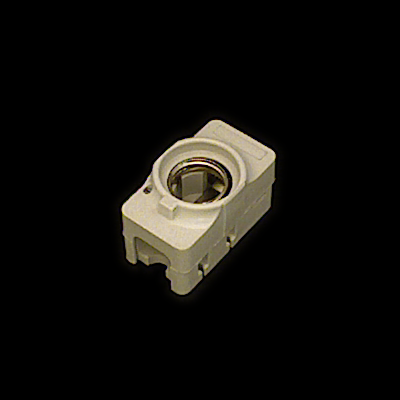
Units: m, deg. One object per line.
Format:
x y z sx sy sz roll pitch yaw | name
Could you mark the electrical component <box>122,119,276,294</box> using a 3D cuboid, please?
0.000 0.000 0.637 0.050 0.090 0.056 32 -31 21 | electrical component
